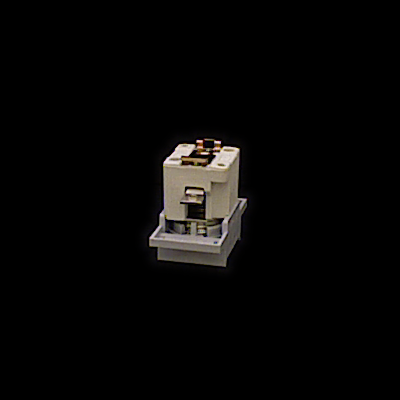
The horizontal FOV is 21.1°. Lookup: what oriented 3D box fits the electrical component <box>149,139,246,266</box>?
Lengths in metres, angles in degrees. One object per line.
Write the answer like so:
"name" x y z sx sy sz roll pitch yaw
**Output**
"electrical component" 0.000 0.000 0.639 0.042 0.064 0.080 5 21 11
